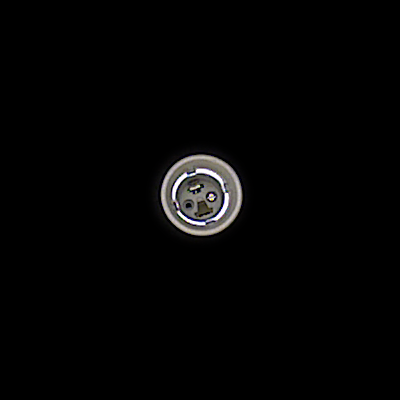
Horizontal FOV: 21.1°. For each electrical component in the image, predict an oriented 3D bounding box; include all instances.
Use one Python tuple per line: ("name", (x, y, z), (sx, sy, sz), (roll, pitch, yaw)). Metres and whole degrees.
("electrical component", (0.000, 0.000, 0.625), (0.044, 0.044, 0.065), (0, -7, 0))
